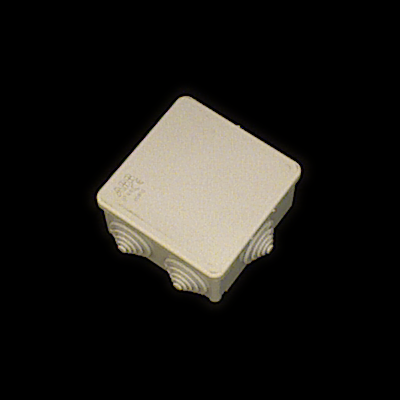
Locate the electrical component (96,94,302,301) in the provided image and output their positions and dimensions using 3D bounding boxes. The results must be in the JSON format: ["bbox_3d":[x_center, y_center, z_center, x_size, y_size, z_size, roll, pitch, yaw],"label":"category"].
[{"bbox_3d":[0.000,0.000,0.639,0.099,0.100,0.048,33,-22,15],"label":"electrical component"}]
